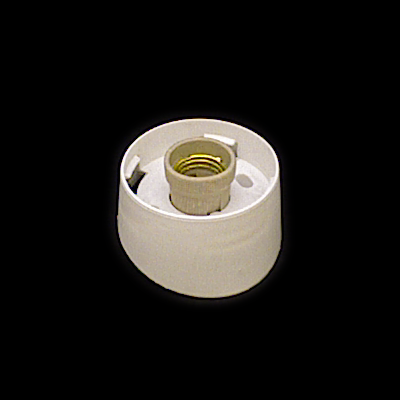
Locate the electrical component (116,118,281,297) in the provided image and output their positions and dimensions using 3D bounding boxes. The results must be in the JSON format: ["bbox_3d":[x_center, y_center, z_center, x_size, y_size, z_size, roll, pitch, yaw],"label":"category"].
[{"bbox_3d":[0.000,0.000,0.630,0.099,0.065,0.098,1,42,0],"label":"electrical component"}]
